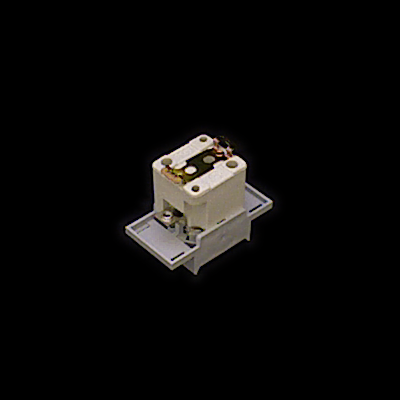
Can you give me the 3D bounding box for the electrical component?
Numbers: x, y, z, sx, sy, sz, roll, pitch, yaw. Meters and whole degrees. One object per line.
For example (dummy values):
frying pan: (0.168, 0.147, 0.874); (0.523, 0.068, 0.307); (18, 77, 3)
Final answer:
electrical component: (0.000, 0.000, 0.629); (0.081, 0.064, 0.042); (-31, 51, -31)
